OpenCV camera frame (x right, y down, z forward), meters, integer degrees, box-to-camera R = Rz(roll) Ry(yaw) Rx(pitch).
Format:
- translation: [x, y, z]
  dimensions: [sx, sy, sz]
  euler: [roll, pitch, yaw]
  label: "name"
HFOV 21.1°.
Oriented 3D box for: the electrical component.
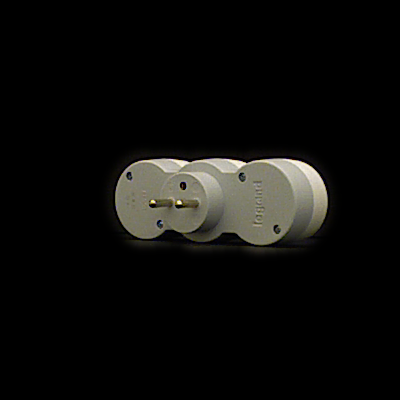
- translation: [0.000, 0.000, 0.655]
  dimensions: [0.136, 0.052, 0.074]
  euler: [2, 3, 35]
  label: "electrical component"
